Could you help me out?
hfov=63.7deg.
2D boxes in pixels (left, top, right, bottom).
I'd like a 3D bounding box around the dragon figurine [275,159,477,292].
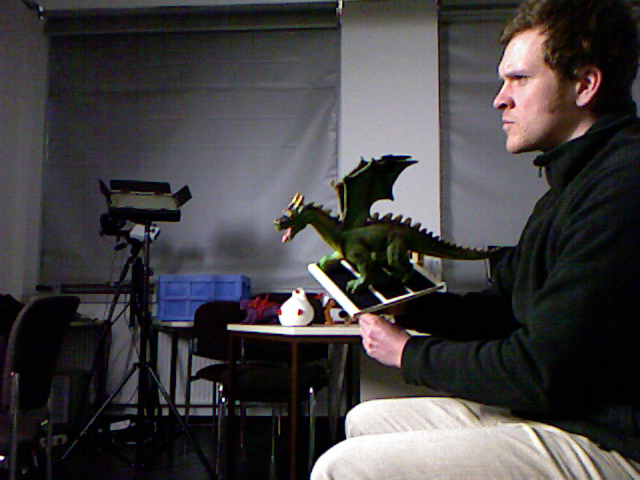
[{"bbox_3d":[0.118,-0.038,0.991,0.412,0.238,0.125,-9,30,-11],"label":"dragon figurine"}]
